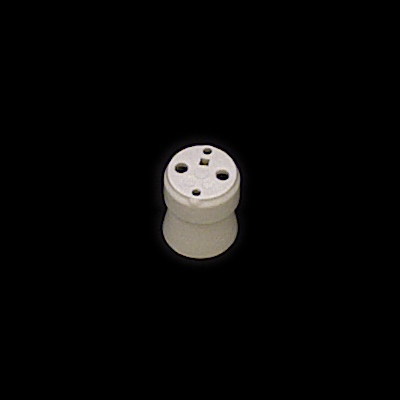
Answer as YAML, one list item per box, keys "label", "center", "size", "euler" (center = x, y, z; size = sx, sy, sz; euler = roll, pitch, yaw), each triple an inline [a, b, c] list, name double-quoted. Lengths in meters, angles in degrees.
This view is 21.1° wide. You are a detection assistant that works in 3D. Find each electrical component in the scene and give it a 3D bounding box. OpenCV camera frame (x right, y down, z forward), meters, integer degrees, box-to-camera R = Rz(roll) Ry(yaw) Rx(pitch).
- label: "electrical component"
  center: [0.000, 0.000, 0.630]
  size: [0.045, 0.044, 0.055]
  euler: [0, -37, -1]
